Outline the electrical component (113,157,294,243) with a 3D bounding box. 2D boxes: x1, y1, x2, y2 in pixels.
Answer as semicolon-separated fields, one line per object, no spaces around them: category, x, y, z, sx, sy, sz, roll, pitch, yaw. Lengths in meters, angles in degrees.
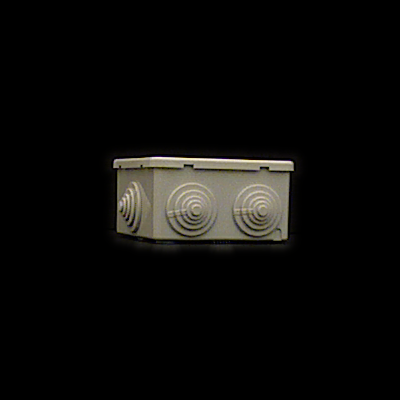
electrical component;0.000;0.000;0.655;0.100;0.048;0.099;1;1;-20
